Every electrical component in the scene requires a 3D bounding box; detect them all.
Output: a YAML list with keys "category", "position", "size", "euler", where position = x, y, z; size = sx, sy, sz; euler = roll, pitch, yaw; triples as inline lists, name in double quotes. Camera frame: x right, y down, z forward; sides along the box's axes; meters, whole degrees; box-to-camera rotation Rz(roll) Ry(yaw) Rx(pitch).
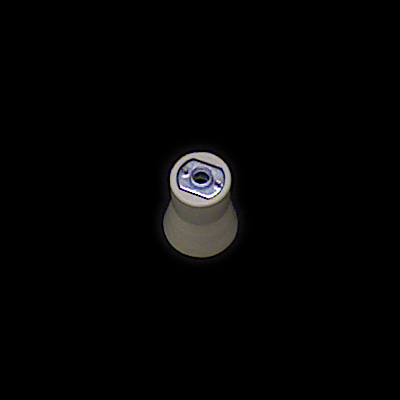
- category: "electrical component"
  position: [0.000, 0.000, 0.624]
  size: [0.044, 0.044, 0.065]
  euler: [0, -26, 0]
